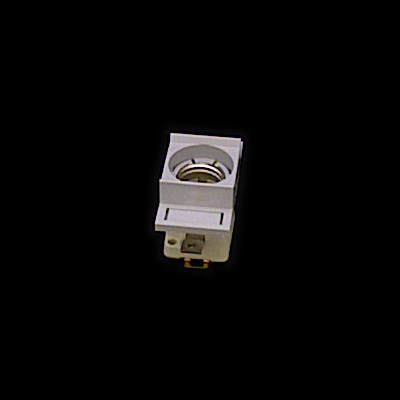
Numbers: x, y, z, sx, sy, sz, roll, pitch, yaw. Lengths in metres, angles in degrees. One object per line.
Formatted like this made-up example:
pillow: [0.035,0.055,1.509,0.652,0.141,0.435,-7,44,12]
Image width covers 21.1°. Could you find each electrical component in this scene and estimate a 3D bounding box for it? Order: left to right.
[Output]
electrical component: [0.000,0.000,0.627,0.042,0.064,0.080,6,41,4]
